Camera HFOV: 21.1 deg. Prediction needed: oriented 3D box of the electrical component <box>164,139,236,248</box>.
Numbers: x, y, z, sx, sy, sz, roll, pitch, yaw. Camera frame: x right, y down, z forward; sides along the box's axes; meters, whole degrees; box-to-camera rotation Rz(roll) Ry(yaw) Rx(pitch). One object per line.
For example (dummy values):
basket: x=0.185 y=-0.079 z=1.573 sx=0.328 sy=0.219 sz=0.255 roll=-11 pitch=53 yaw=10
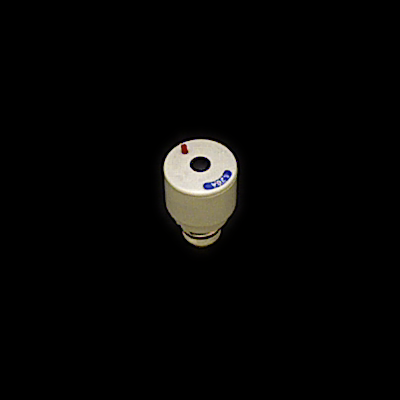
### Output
electrical component: x=0.000 y=0.000 z=0.622 sx=0.040 sy=0.040 sz=0.079 roll=0 pitch=-38 yaw=0
